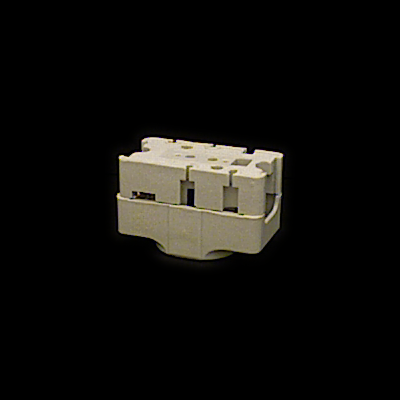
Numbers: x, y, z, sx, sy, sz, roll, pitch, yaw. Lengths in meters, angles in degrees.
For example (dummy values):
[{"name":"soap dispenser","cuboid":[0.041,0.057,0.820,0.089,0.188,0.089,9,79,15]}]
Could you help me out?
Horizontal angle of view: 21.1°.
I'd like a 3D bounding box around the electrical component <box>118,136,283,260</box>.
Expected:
[{"name":"electrical component","cuboid":[0.000,0.000,0.647,0.089,0.056,0.050,9,23,17]}]
